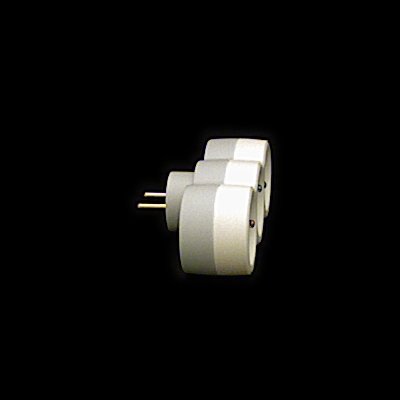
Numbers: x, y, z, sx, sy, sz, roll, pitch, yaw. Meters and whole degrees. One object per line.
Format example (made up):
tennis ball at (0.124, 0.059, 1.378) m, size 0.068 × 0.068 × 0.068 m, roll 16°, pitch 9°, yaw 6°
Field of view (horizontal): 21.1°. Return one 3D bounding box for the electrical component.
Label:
electrical component at (0.000, 0.000, 0.649) m, size 0.073 × 0.053 × 0.137 m, roll 3°, pitch 21°, yaw 8°
